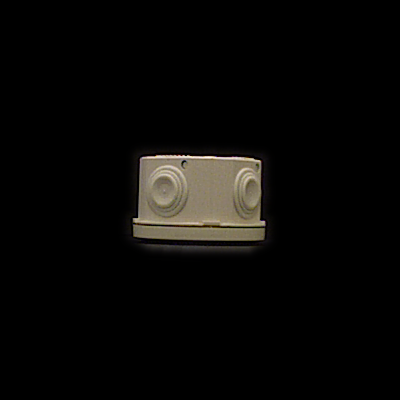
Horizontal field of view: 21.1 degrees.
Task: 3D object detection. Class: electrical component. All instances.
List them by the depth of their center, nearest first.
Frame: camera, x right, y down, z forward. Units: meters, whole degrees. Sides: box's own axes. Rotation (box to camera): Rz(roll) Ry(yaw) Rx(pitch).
[{"bbox_3d":[0.000,0.000,0.649,0.080,0.051,0.080,2,1,0],"label":"electrical component"}]
